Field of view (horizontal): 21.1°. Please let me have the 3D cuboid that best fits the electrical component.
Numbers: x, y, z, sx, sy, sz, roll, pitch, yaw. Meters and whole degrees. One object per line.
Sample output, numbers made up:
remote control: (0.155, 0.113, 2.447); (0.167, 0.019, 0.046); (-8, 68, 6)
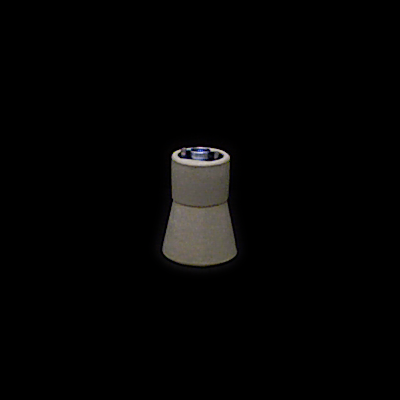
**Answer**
electrical component: (0.000, 0.000, 0.639); (0.044, 0.066, 0.044); (1, 20, 0)
